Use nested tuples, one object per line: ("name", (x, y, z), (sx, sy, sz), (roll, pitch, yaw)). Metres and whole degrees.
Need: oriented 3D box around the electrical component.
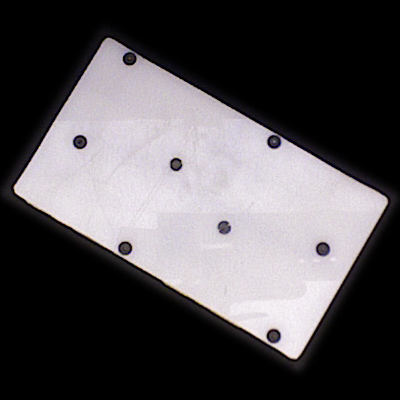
("electrical component", (0.000, 0.000, 0.626), (0.186, 0.106, 0.060), (30, -5, 4))
